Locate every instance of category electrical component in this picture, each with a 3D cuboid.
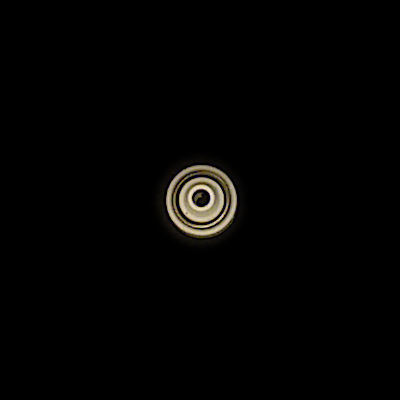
[{"bbox_3d":[0.000,0.000,0.635,0.043,0.043,0.062,0,-4,1],"label":"electrical component"}]
